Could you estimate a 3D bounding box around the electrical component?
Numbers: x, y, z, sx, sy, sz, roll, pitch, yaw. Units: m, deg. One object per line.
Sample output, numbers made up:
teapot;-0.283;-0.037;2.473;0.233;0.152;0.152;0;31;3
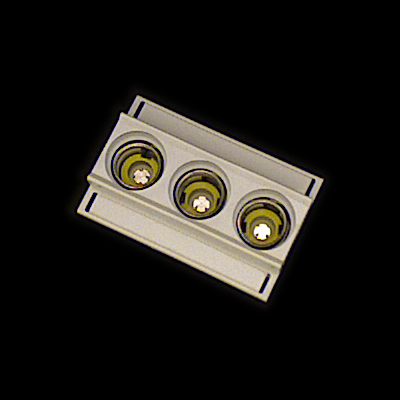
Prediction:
electrical component;0.000;0.000;0.637;0.121;0.079;0.063;25;-13;8
